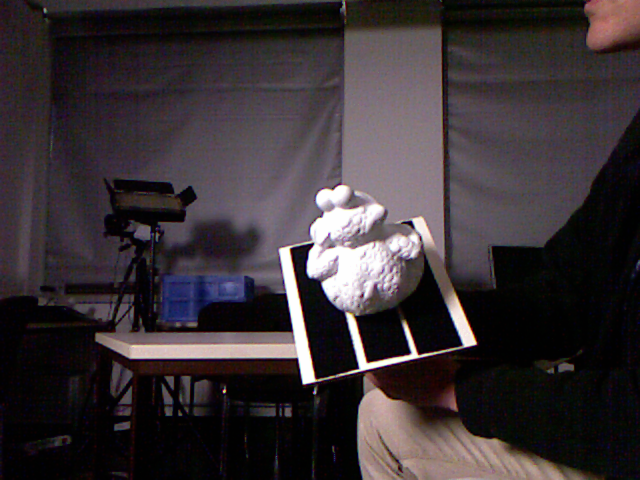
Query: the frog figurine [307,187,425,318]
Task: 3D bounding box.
[{"bbox_3d":[0.053,0.011,0.589,0.138,0.126,0.156,-3,-36,5],"label":"frog figurine"}]
